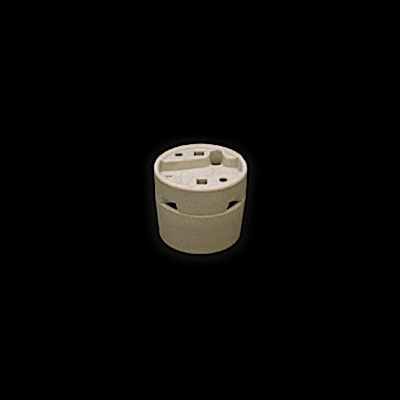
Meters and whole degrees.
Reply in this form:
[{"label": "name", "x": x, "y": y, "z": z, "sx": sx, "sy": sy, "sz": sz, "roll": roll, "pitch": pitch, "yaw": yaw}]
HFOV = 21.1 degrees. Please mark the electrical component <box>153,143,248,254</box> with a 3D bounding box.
[{"label": "electrical component", "x": 0.000, "y": 0.000, "z": 0.637, "sx": 0.055, "sy": 0.047, "sz": 0.055, "roll": 1, "pitch": 31, "yaw": 0}]
